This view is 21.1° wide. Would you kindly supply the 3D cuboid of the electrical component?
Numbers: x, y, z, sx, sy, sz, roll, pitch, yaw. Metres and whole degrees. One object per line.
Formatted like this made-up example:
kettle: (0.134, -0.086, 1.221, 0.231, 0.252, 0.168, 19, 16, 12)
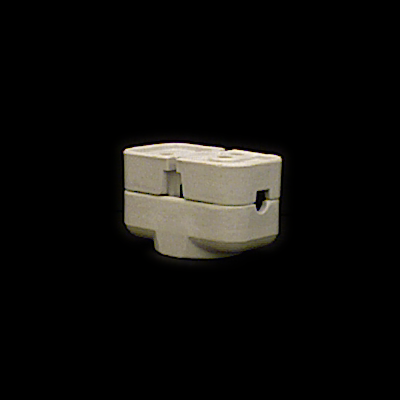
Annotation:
electrical component: (0.000, 0.000, 0.654, 0.094, 0.060, 0.054, 10, 14, 39)
